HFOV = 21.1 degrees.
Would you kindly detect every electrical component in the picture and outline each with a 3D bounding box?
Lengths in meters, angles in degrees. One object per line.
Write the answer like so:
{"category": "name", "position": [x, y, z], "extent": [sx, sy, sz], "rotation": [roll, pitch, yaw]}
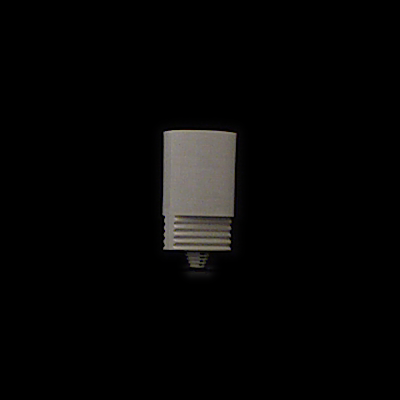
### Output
{"category": "electrical component", "position": [0.000, 0.000, 0.646], "extent": [0.043, 0.081, 0.043], "rotation": [0, 1, 0]}
